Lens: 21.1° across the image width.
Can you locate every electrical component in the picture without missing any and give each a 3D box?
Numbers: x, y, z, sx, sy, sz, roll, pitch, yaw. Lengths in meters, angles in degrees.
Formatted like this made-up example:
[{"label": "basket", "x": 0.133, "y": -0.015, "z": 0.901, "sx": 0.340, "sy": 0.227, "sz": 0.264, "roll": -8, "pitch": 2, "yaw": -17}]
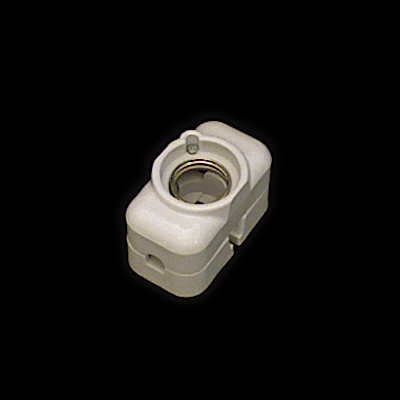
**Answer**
[{"label": "electrical component", "x": 0.000, "y": 0.000, "z": 0.636, "sx": 0.053, "sy": 0.095, "sz": 0.059, "roll": 27, "pitch": -33, "yaw": 18}]
